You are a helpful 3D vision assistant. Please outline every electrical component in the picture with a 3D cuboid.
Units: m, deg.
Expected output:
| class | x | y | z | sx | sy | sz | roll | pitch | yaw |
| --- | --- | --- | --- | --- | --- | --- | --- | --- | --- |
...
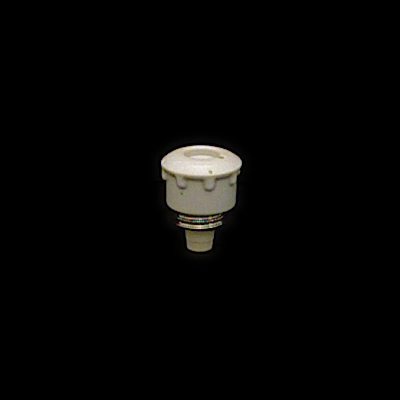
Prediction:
| class | x | y | z | sx | sy | sz | roll | pitch | yaw |
| --- | --- | --- | --- | --- | --- | --- | --- | --- | --- |
| electrical component | 0.000 | 0.000 | 0.648 | 0.048 | 0.063 | 0.047 | 1 | 22 | 0 |
